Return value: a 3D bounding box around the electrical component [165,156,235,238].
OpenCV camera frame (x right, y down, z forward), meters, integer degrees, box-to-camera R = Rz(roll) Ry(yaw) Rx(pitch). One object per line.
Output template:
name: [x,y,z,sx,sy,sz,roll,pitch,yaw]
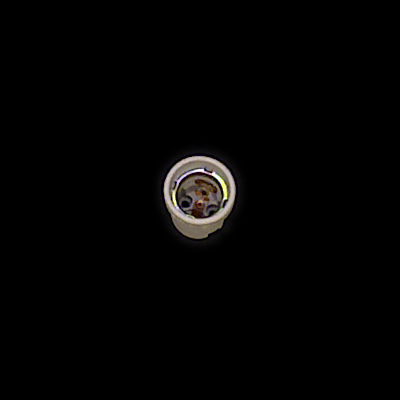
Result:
electrical component: [0.000,0.000,0.626,0.040,0.040,0.046,0,-17,-1]
